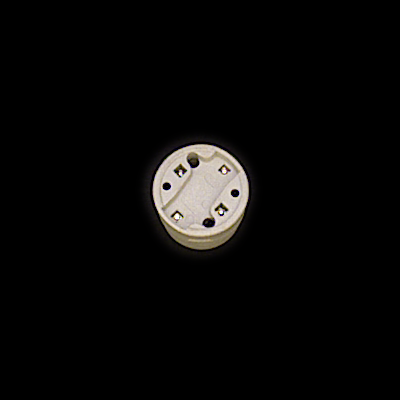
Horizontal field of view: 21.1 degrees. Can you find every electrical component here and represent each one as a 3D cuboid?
[{"bbox_3d":[0.000,0.000,0.634,0.055,0.056,0.047,0,-17,0],"label":"electrical component"}]
